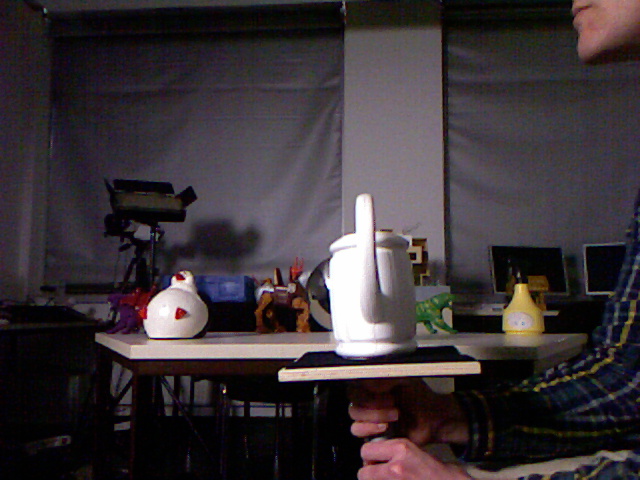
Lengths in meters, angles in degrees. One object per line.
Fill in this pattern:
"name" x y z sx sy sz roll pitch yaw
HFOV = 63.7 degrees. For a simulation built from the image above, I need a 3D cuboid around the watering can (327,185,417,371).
"watering can" 0.064 0.047 0.674 0.104 0.226 0.349 -3 -2 5
